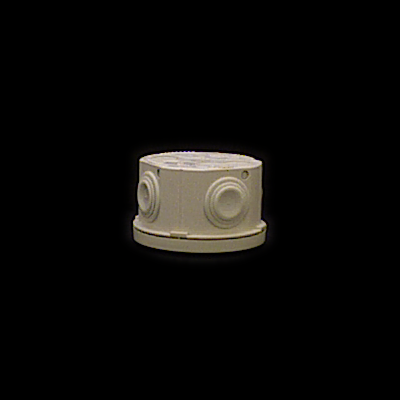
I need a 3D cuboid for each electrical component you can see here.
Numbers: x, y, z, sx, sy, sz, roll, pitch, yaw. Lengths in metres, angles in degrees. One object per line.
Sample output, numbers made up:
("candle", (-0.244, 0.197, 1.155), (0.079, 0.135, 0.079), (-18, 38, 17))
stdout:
("electrical component", (0.000, 0.000, 0.644), (0.080, 0.051, 0.079), (1, 11, 0))
